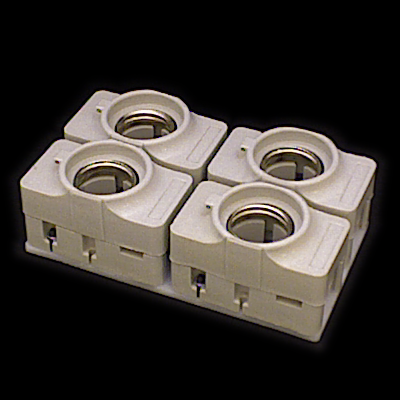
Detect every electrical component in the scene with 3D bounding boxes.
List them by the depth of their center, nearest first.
[{"bbox_3d":[0.000,0.000,0.629,0.186,0.061,0.105,16,44,16],"label":"electrical component"}]
